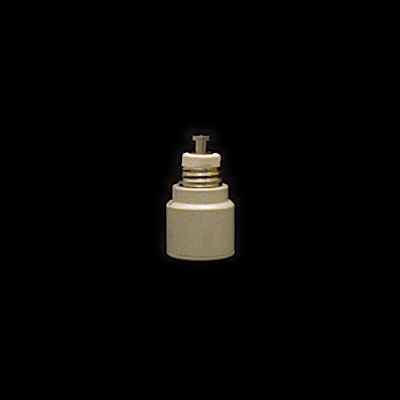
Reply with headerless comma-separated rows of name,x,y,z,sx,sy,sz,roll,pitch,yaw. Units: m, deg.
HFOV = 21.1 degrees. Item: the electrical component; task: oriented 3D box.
electrical component,0.000,0.000,0.643,0.040,0.079,0.040,0,12,0
